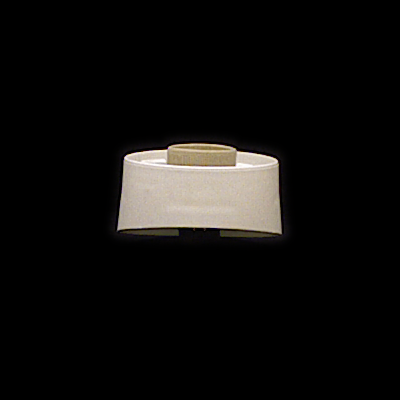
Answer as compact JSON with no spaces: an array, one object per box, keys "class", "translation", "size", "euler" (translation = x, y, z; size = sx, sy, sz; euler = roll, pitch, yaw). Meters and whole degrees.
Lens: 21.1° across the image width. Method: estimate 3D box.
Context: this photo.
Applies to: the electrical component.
[{"class":"electrical component","translation":[0.000,0.000,0.643],"size":[0.099,0.064,0.098],"euler":[1,10,0]}]
